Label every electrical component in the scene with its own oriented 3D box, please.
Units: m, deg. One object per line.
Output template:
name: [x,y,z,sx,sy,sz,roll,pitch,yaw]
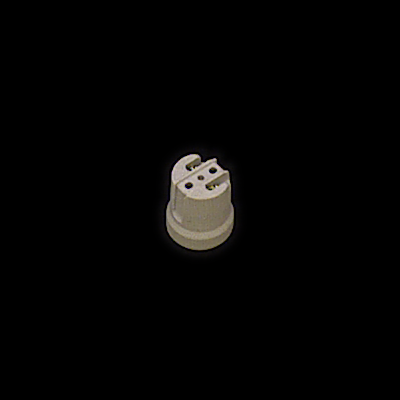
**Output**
electrical component: [0.000,0.000,0.634,0.040,0.040,0.046,0,-37,-1]
